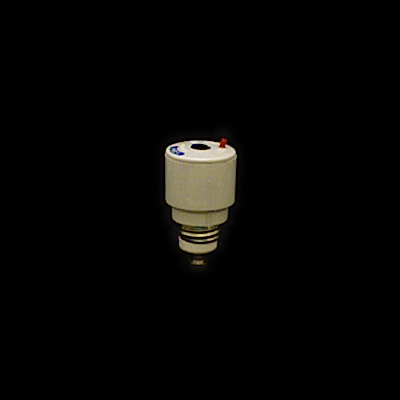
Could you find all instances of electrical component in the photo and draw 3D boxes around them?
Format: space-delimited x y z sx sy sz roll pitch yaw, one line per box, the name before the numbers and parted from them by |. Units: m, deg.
electrical component | 0.000 0.000 0.635 0.040 0.079 0.039 1 21 -1
